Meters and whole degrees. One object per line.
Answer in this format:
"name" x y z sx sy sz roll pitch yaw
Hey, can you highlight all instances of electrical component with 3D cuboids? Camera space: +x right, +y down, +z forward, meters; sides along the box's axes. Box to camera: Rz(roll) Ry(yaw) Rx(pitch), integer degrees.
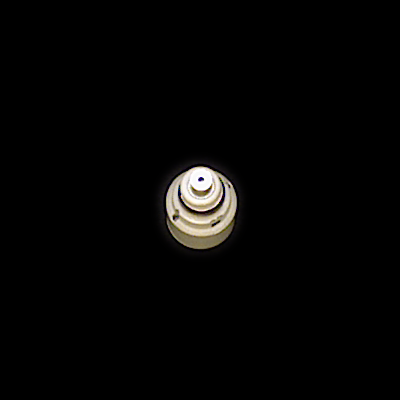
"electrical component" 0.000 0.000 0.617 0.040 0.040 0.078 0 -18 0
